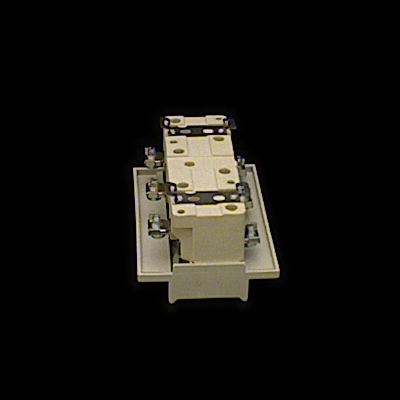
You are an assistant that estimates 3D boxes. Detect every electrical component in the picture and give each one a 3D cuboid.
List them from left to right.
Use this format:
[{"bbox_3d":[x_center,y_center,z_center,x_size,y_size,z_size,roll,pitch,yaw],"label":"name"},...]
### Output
[{"bbox_3d":[0.000,0.000,0.642,0.079,0.064,0.119,-1,32,-5],"label":"electrical component"}]
